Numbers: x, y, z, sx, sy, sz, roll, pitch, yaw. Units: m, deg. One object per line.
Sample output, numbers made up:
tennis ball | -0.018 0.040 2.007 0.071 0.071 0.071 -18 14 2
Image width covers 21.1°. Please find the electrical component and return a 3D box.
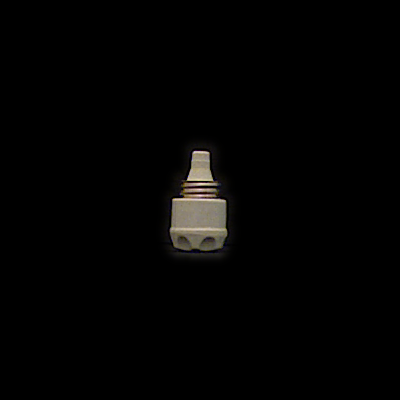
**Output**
electrical component | 0.000 0.000 0.661 0.035 0.061 0.035 2 1 0
